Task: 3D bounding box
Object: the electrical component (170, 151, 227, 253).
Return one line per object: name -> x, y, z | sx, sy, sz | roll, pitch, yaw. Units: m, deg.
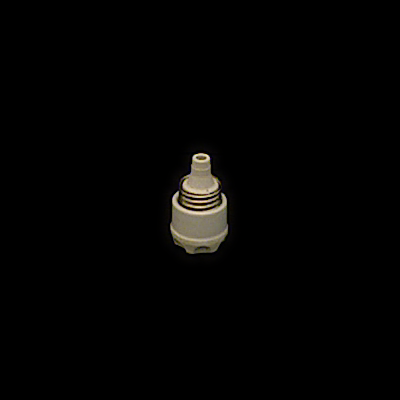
electrical component -> 0.000, 0.000, 0.648 | 0.035, 0.062, 0.034 | 2, 33, -1
